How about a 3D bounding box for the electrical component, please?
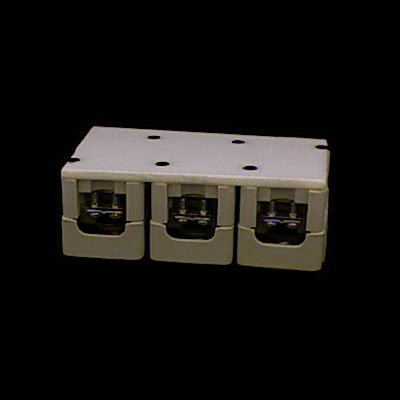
[{"bbox_3d":[0.000,0.000,0.647,0.150,0.063,0.088,4,21,6],"label":"electrical component"}]
